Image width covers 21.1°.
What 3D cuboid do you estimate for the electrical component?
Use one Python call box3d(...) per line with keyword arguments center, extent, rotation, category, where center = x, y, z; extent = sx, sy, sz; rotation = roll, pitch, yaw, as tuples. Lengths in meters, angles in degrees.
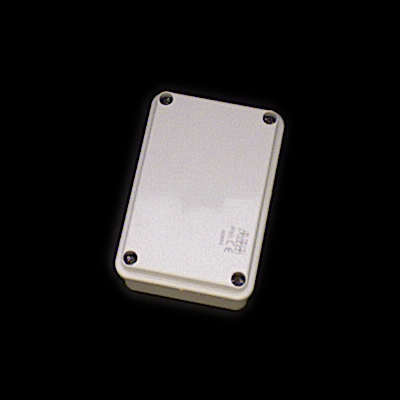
box3d(center=(0.000, 0.000, 0.627), extent=(0.078, 0.113, 0.057), rotation=(11, -17, 3), category="electrical component")
